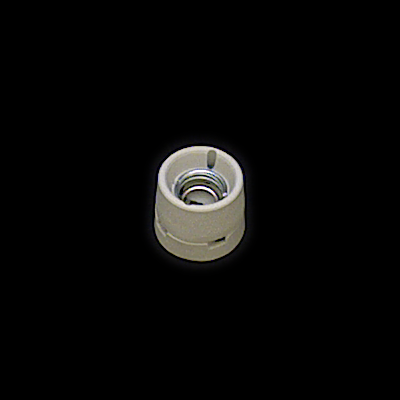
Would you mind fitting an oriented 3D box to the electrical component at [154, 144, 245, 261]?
[{"bbox_3d":[0.000,0.000,0.635,0.055,0.055,0.047,0,-38,-1],"label":"electrical component"}]
